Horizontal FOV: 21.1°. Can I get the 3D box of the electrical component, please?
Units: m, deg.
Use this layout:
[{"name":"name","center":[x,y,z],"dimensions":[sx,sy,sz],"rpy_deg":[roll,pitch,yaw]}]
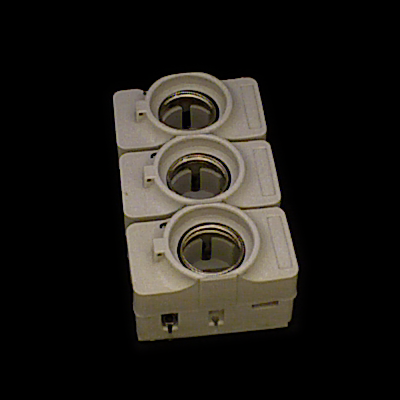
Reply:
[{"name":"electrical component","center":[0.000,0.000,0.633],"dimensions":[0.090,0.148,0.062],"rpy_deg":[-6,-38,-4]}]
